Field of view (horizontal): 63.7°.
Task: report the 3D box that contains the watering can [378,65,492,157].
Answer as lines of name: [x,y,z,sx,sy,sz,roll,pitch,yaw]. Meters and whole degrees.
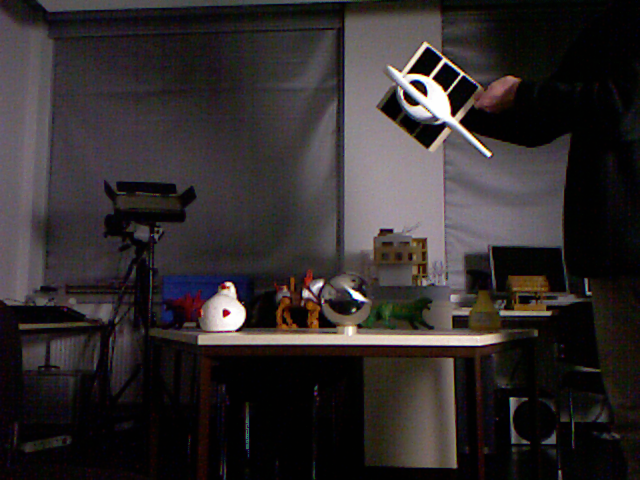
watering can: [0.288,-0.327,1.322,0.349,0.103,0.227,41,15,2]
